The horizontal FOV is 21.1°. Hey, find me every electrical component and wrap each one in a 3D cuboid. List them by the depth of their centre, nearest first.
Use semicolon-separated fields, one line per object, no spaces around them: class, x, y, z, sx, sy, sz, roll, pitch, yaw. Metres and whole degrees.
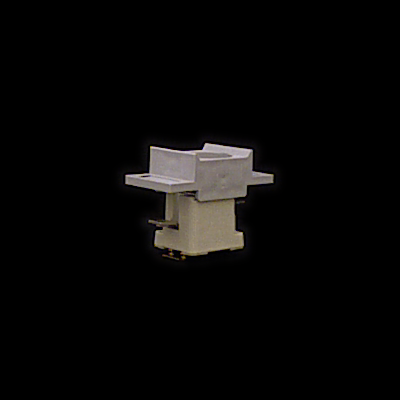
electrical component;0.000;0.000;0.641;0.081;0.064;0.042;-7;15;-40
